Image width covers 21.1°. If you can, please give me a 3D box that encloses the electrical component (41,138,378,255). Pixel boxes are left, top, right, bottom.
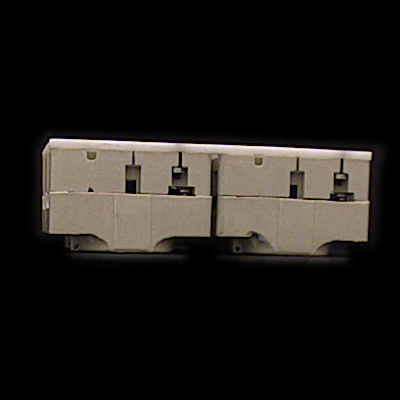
[{"bbox_3d":[0.000,0.000,0.649,0.186,0.060,0.105,2,0,-10],"label":"electrical component"}]
